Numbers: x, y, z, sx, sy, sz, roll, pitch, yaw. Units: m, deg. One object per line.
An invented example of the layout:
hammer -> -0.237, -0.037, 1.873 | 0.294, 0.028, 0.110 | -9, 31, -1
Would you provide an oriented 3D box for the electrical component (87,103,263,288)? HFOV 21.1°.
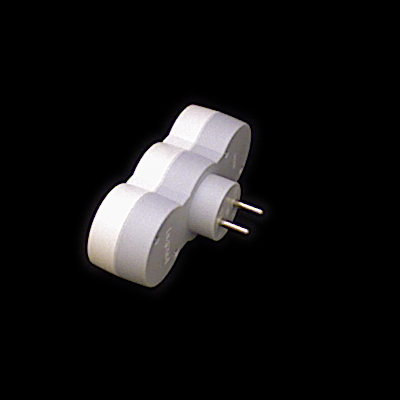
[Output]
electrical component -> 0.000, 0.000, 0.636 | 0.073, 0.052, 0.137 | 21, 45, 18
